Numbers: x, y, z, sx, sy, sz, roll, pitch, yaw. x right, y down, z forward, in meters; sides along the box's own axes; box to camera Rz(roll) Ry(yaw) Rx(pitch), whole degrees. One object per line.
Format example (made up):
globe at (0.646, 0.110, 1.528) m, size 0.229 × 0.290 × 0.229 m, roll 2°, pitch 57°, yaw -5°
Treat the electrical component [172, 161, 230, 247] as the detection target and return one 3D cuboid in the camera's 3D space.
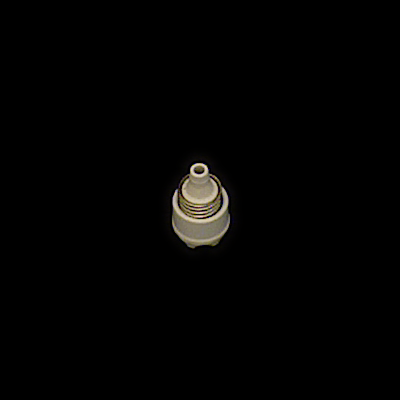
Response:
electrical component at (0.000, 0.000, 0.640) m, size 0.035 × 0.035 × 0.062 m, roll 0°, pitch -36°, yaw 2°
